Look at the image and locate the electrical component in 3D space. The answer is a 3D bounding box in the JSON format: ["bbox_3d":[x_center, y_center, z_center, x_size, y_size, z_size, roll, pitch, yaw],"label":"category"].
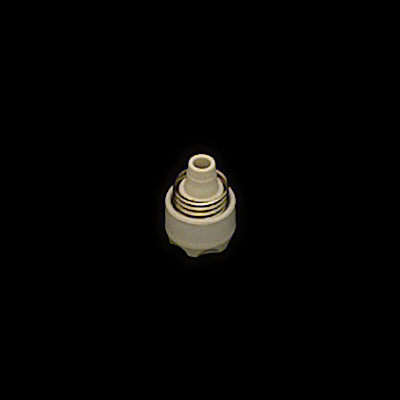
[{"bbox_3d":[0.000,0.000,0.637,0.043,0.062,0.043,1,44,0],"label":"electrical component"}]
